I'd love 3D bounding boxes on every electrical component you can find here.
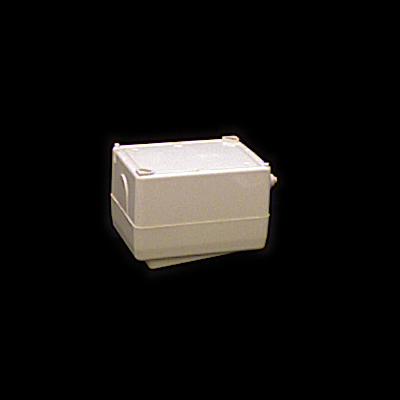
[{"bbox_3d":[0.000,0.000,0.637,0.096,0.061,0.061,-5,22,-18],"label":"electrical component"}]
